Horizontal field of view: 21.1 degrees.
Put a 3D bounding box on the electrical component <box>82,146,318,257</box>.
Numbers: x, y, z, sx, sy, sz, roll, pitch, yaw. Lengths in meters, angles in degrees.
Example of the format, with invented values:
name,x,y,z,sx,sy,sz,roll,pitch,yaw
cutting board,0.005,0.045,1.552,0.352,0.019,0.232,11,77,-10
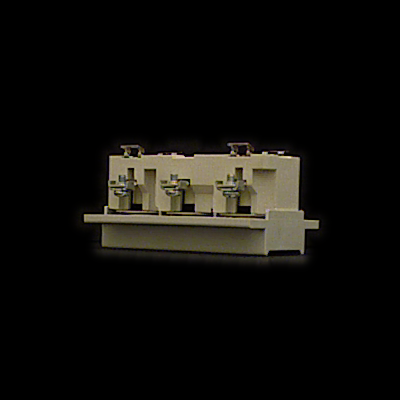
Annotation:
name,x,y,z,sx,sy,sz,roll,pitch,yaw
electrical component,0.000,0.000,0.660,0.120,0.063,0.079,2,0,34
